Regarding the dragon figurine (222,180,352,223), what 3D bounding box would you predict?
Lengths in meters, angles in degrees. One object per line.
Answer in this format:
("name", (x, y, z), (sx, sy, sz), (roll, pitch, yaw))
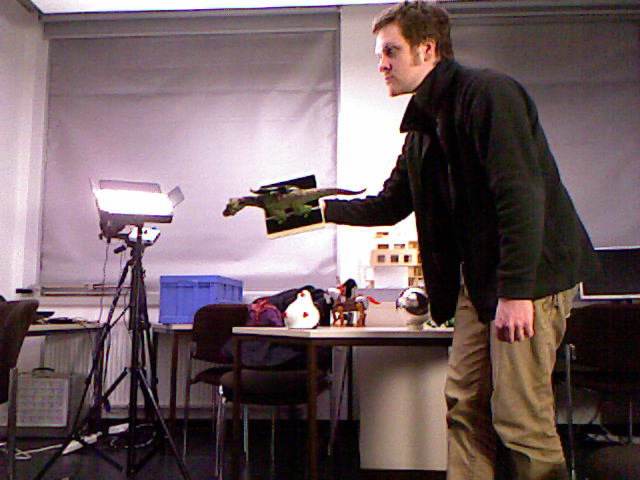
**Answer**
("dragon figurine", (-0.110, -0.139, 1.629), (0.410, 0.123, 0.242), (-14, -8, 7))
